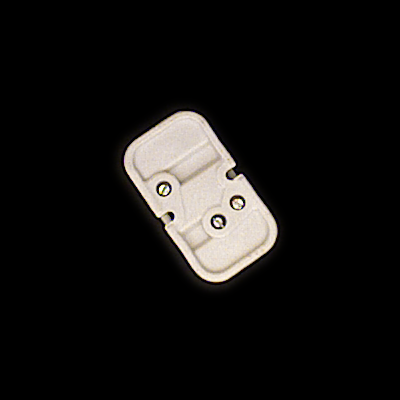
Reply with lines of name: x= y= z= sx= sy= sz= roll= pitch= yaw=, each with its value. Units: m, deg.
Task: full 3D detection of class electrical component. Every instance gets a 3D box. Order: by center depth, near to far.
electrical component: x=0.000 y=0.000 z=0.637 sx=0.054 sy=0.095 sz=0.059 roll=-35 pitch=-6 yaw=-3
